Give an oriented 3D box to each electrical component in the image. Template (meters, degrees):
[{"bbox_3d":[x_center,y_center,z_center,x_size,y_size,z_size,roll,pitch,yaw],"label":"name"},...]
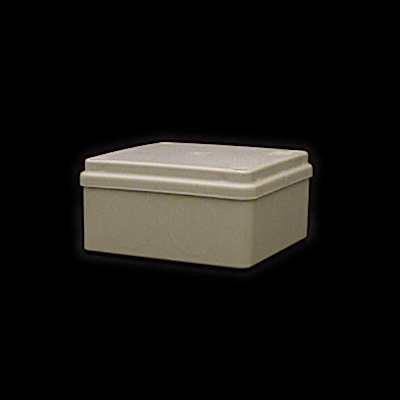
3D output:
[{"bbox_3d":[0.000,0.000,0.644,0.108,0.056,0.108,5,11,24],"label":"electrical component"}]
